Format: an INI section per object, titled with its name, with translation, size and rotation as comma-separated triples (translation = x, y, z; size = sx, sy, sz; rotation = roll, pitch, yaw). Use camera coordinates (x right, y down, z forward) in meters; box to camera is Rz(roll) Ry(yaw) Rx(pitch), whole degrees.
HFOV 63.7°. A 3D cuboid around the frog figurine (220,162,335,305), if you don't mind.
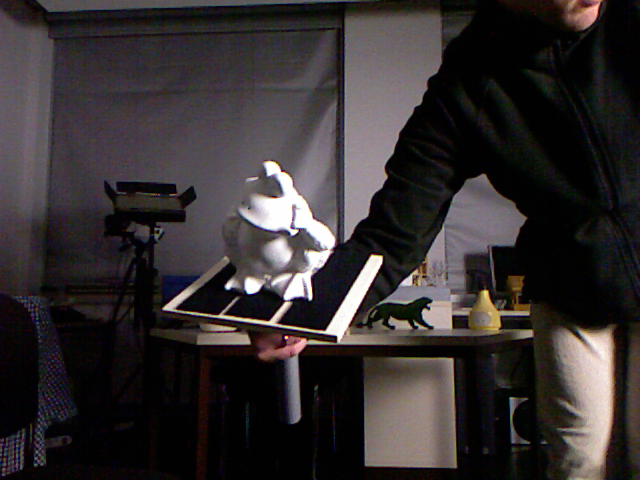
[frog figurine]
translation = -0.052, -0.017, 0.578
size = 0.138, 0.157, 0.125
rotation = 16, 29, 32
